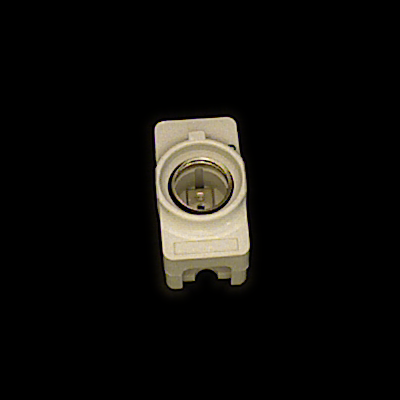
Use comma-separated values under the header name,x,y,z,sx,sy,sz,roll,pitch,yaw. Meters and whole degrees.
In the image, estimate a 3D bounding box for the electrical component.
name,x,y,z,sx,sy,sz,roll,pitch,yaw
electrical component,0.000,0.000,0.636,0.050,0.089,0.055,-5,-26,-2
